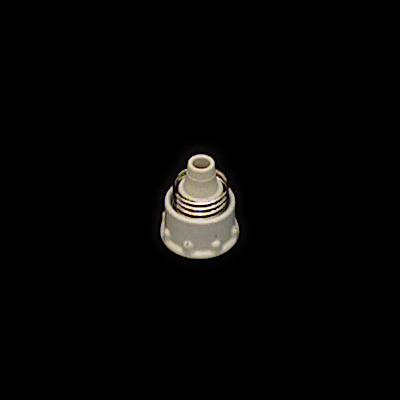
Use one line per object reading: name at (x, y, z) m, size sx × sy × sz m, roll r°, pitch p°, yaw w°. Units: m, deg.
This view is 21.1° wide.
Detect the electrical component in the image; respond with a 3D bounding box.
electrical component at (0.000, 0.000, 0.637) m, size 0.048 × 0.062 × 0.047 m, roll 1°, pitch 43°, yaw 0°
